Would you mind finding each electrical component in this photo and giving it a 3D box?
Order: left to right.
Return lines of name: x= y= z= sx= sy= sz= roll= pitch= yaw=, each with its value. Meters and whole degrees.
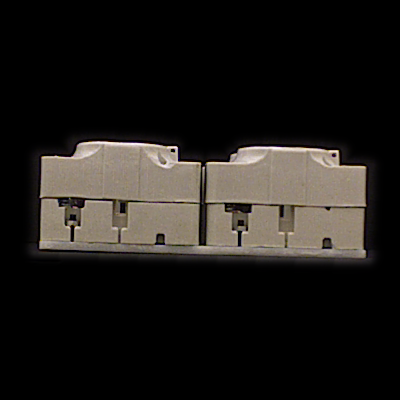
electrical component: x=0.000 y=0.000 z=0.650 sx=0.186 sy=0.060 sz=0.105 roll=2 pitch=0 yaw=-3
